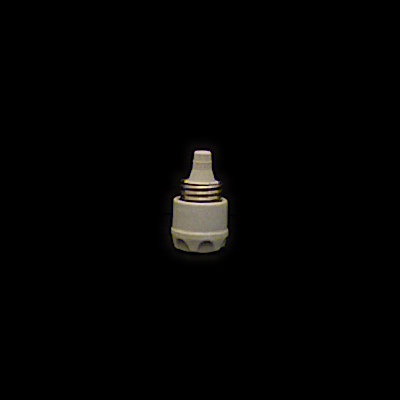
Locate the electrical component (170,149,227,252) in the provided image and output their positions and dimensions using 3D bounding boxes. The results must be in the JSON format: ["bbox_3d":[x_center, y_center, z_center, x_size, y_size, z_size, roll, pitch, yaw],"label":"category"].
[{"bbox_3d":[0.000,0.000,0.658,0.035,0.062,0.035,3,13,0],"label":"electrical component"}]
